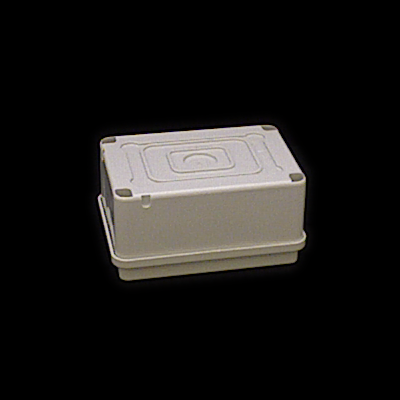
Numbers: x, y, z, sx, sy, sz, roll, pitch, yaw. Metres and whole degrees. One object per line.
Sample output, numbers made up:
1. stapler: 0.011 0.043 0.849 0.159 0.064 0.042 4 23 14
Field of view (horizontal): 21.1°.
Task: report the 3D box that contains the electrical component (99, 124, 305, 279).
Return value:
1. electrical component: 0.000 0.000 0.635 0.113 0.058 0.077 -5 32 -11
